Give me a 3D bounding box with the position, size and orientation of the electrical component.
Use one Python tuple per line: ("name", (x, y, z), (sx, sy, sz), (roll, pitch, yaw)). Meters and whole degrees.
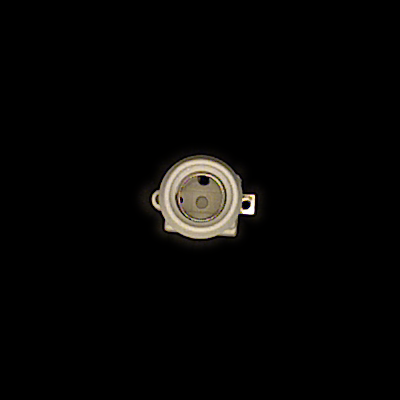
("electrical component", (0.000, 0.000, 0.639), (0.066, 0.048, 0.055), (3, -4, 1))
